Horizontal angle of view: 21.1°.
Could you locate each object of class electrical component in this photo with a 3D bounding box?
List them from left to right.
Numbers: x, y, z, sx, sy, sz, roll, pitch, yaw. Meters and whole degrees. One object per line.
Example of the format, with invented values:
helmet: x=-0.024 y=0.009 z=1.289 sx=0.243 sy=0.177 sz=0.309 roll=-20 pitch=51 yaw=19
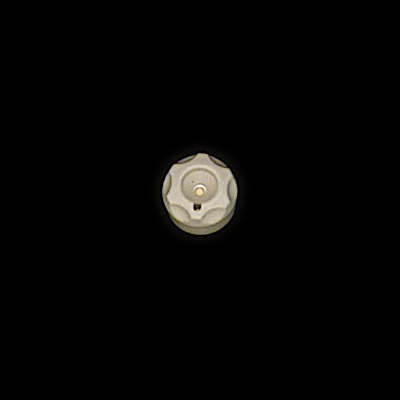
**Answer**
electrical component: x=0.000 y=0.000 z=0.634 sx=0.043 sy=0.043 sz=0.061 roll=0 pitch=-17 yaw=1
